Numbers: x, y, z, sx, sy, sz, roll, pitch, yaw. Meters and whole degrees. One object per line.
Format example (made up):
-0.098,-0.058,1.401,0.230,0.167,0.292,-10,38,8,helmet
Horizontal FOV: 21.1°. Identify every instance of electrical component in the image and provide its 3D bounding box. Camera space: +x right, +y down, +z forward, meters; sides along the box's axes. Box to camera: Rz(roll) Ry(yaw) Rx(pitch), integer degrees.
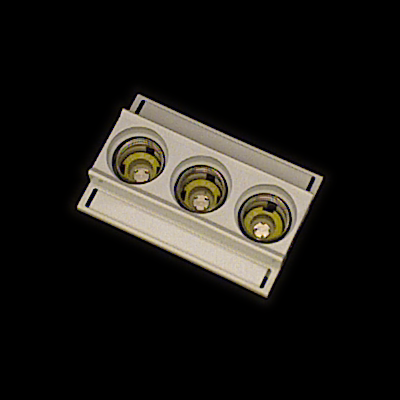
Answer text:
0.000,0.000,0.638,0.121,0.079,0.063,25,-16,8,electrical component
